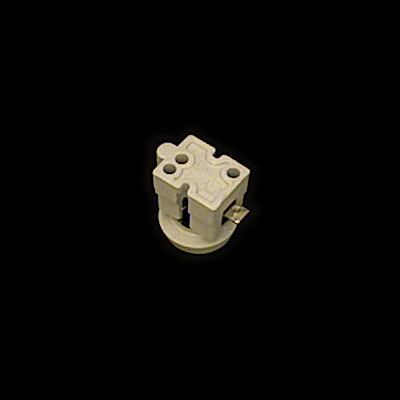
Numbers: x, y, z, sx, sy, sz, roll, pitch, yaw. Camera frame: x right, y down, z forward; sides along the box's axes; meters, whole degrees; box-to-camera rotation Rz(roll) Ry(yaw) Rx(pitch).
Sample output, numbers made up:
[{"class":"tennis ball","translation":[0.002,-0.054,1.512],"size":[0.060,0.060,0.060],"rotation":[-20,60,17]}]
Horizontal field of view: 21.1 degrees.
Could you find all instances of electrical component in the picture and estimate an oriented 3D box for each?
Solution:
[{"class":"electrical component","translation":[0.000,0.000,0.638],"size":[0.066,0.048,0.055],"rotation":[32,-32,20]}]
